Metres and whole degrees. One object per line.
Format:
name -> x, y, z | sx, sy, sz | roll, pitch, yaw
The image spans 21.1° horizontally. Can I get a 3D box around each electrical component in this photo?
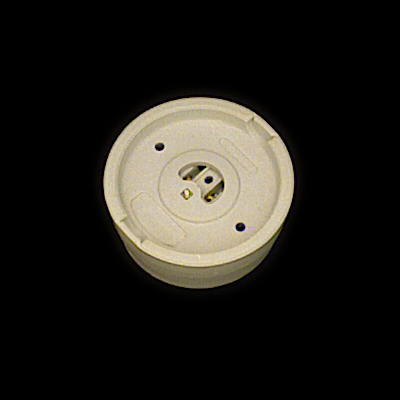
electrical component -> 0.000, 0.000, 0.632 | 0.108, 0.108, 0.060 | 0, -27, -1
